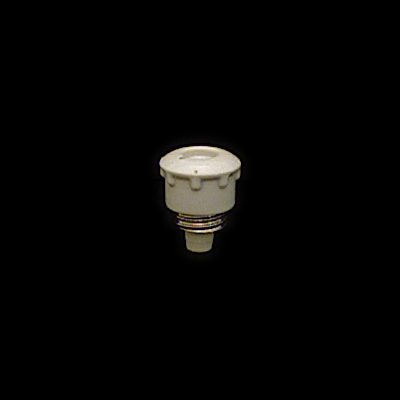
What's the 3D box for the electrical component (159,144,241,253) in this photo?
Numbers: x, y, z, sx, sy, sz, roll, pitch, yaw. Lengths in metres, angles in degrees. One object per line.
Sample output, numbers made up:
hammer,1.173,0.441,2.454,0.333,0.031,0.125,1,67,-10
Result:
electrical component,0.000,0.000,0.644,0.048,0.062,0.047,1,22,0
